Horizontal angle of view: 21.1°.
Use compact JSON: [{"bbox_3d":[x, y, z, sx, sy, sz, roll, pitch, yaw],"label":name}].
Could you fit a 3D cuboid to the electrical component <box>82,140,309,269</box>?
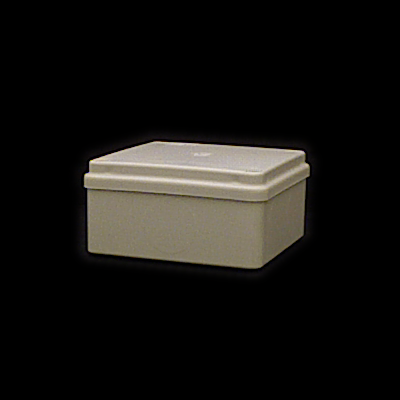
[{"bbox_3d":[0.000,0.000,0.643,0.108,0.056,0.108,5,11,19],"label":"electrical component"}]
